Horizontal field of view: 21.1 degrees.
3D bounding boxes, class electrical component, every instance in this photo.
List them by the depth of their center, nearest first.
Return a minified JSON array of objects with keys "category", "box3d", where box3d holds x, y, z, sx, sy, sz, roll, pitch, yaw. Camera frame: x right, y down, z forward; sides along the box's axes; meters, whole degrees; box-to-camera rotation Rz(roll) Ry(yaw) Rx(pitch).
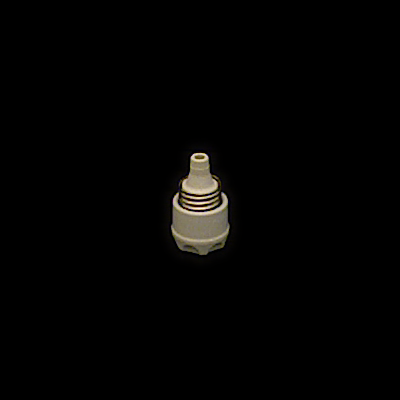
[{"category":"electrical component","box3d":[0.000,0.000,0.645,0.035,0.062,0.034,0,31,0]}]
